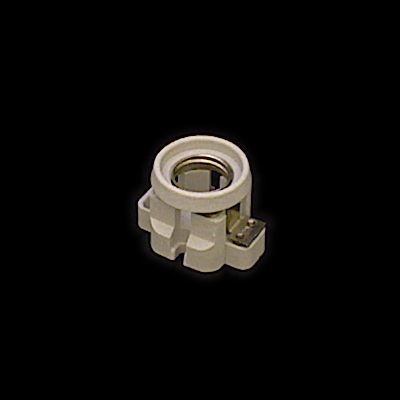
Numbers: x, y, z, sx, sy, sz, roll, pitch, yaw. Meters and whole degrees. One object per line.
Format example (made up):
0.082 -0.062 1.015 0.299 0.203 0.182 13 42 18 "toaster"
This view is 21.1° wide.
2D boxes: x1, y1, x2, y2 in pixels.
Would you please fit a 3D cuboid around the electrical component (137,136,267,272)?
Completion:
0.000 0.000 0.632 0.078 0.057 0.057 22 46 22 "electrical component"
